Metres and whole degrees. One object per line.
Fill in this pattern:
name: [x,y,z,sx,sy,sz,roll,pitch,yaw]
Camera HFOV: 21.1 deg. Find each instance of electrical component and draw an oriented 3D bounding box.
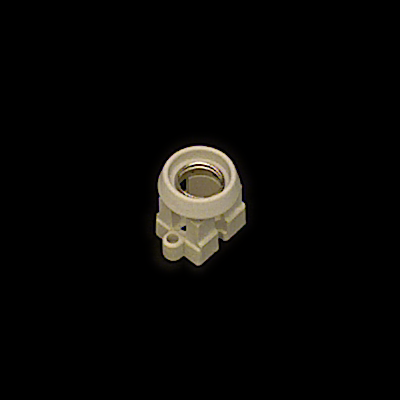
electrical component: [0.000,0.000,0.639,0.048,0.067,0.056,36,-29,21]
